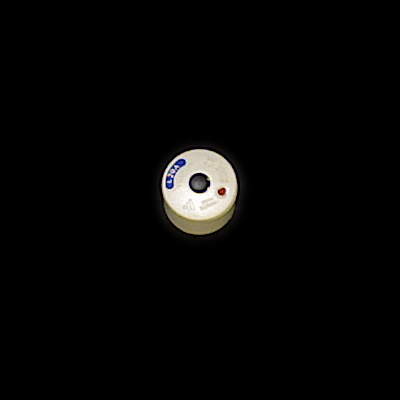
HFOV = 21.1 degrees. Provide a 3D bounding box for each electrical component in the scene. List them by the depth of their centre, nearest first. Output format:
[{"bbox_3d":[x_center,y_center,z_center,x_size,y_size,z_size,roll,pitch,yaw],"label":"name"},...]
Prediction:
[{"bbox_3d":[0.000,0.000,0.616,0.040,0.040,0.078,0,-16,-1],"label":"electrical component"}]
